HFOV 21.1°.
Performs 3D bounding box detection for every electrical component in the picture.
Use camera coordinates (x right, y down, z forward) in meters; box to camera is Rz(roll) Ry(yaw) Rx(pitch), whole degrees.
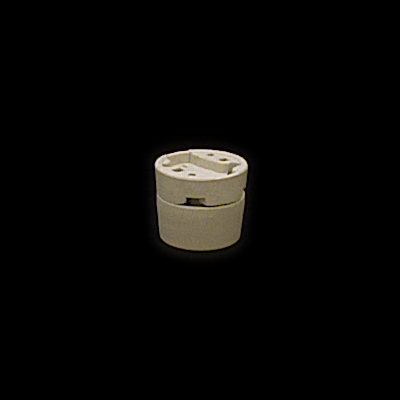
[{"bbox_3d":[0.000,0.000,0.642,0.055,0.047,0.055,1,21,0],"label":"electrical component"}]
